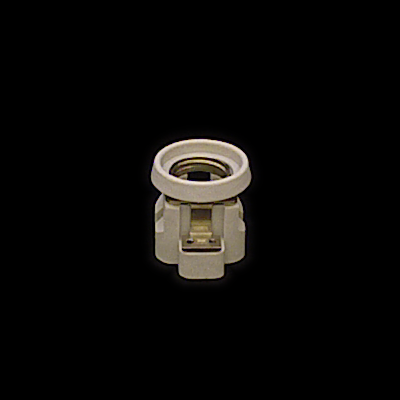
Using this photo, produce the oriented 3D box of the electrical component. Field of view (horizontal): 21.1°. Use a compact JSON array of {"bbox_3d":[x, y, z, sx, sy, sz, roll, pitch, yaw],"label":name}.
[{"bbox_3d":[0.000,0.000,0.634,0.058,0.057,0.077,-1,32,-3],"label":"electrical component"}]
